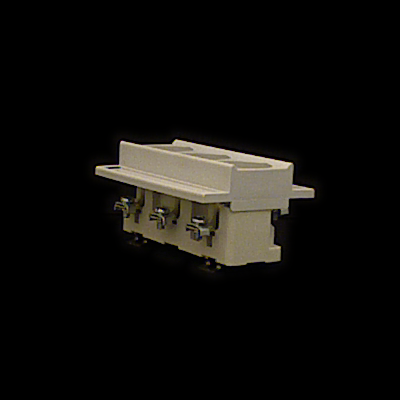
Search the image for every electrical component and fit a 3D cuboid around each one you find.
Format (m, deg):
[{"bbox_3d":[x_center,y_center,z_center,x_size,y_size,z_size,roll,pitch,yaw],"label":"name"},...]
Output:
[{"bbox_3d":[0.000,0.000,0.658,0.079,0.063,0.120,-5,12,-34],"label":"electrical component"}]
